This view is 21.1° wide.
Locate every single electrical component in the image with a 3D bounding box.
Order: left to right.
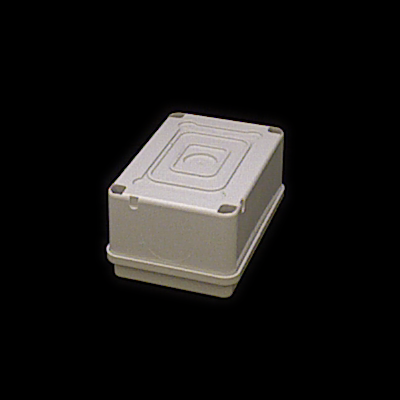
[{"bbox_3d":[0.000,0.000,0.635,0.078,0.058,0.112,10,32,15],"label":"electrical component"}]
